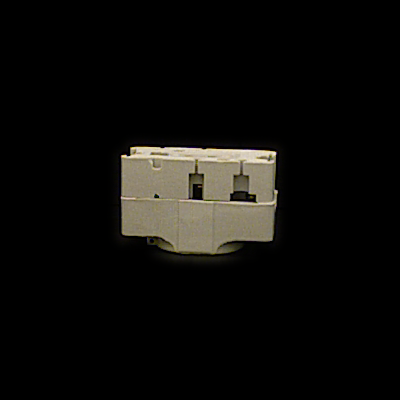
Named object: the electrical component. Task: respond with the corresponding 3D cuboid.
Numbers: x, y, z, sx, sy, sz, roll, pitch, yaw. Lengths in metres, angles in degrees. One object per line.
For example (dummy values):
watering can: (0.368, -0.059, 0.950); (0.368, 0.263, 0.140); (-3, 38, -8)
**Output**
electrical component: (0.000, 0.000, 0.650); (0.089, 0.056, 0.050); (2, 12, 4)
